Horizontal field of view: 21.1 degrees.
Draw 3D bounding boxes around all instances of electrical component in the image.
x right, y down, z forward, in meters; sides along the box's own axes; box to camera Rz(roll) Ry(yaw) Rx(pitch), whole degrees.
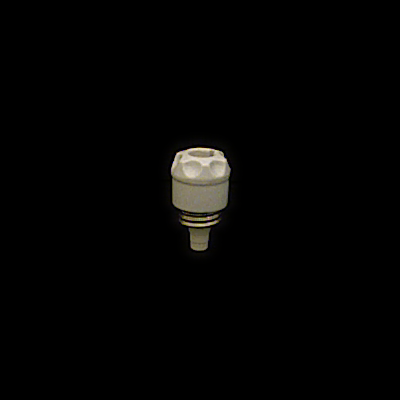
[{"bbox_3d":[0.000,0.000,0.646,0.035,0.062,0.034,1,22,0],"label":"electrical component"}]
